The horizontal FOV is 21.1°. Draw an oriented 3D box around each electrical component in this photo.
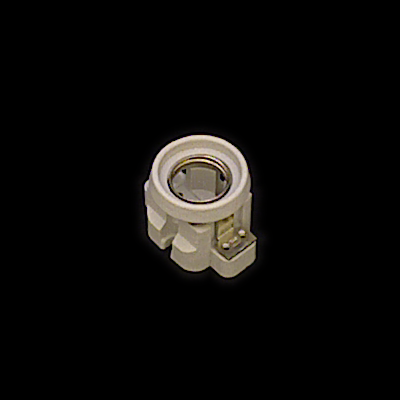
[{"bbox_3d":[0.000,0.000,0.629,0.058,0.057,0.078,-36,61,-24],"label":"electrical component"}]
